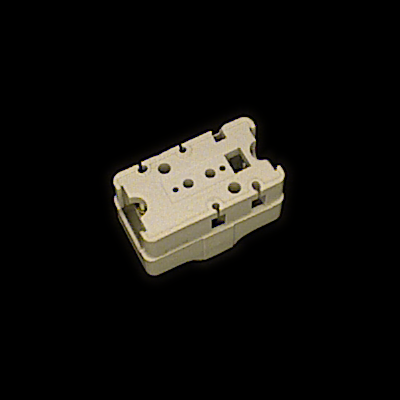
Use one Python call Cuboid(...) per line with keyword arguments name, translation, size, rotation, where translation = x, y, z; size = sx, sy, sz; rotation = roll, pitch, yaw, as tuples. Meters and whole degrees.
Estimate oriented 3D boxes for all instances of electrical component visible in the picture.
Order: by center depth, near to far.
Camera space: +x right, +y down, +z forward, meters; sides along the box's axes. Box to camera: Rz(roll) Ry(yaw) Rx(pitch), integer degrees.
Cuboid(name="electrical component", translation=(0.000, 0.000, 0.636), size=(0.090, 0.050, 0.055), rotation=(-25, -25, -13))
